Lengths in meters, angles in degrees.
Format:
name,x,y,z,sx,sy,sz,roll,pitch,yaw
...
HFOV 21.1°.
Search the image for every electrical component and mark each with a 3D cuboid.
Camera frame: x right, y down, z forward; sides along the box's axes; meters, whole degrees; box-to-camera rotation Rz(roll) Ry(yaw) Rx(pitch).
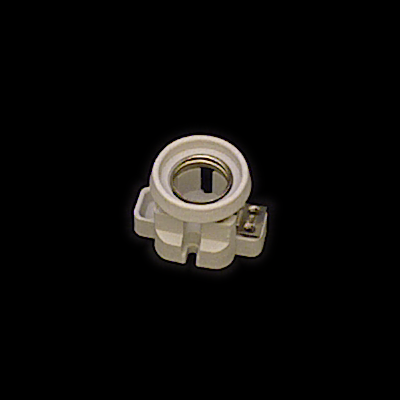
name,x,y,z,sx,sy,sz,roll,pitch,yaw
electrical component,0.000,0.000,0.630,0.078,0.057,0.057,11,-37,7
